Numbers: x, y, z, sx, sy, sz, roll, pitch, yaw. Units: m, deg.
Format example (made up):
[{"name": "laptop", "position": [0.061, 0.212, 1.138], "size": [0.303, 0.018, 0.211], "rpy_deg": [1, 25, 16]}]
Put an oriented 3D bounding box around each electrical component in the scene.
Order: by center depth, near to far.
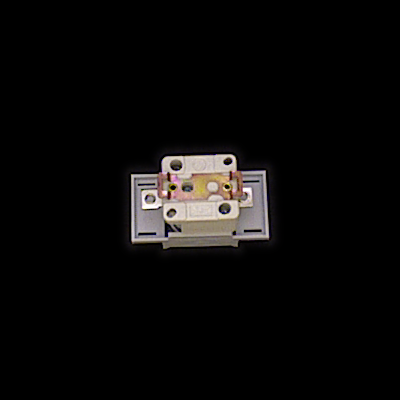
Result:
[{"name": "electrical component", "position": [0.000, 0.000, 0.625], "size": [0.081, 0.042, 0.063], "rpy_deg": [-2, -17, -1]}]
